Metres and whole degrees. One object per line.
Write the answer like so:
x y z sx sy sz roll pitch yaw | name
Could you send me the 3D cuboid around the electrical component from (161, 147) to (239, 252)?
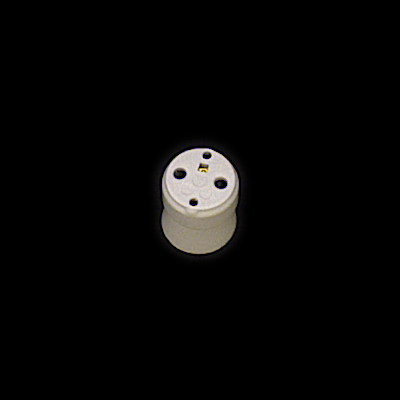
0.000 0.000 0.629 0.045 0.045 0.055 0 -27 -1 | electrical component
